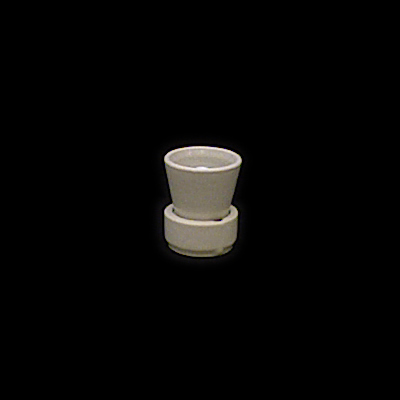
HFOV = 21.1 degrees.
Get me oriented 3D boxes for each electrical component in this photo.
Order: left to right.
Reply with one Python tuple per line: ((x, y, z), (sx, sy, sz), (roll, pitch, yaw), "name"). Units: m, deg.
((0.000, 0.000, 0.641), (0.045, 0.056, 0.044), (2, 21, 0), "electrical component")
